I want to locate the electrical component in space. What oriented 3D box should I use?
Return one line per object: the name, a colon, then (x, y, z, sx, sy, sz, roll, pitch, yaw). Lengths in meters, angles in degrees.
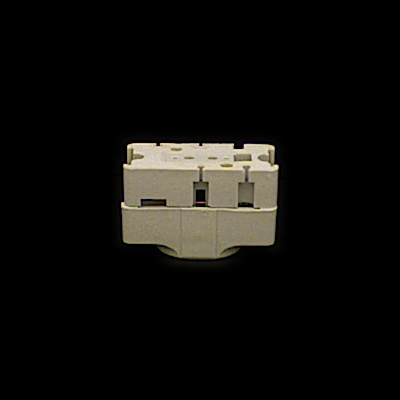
electrical component: (0.000, 0.000, 0.647, 0.090, 0.056, 0.049, 1, 21, -1)
